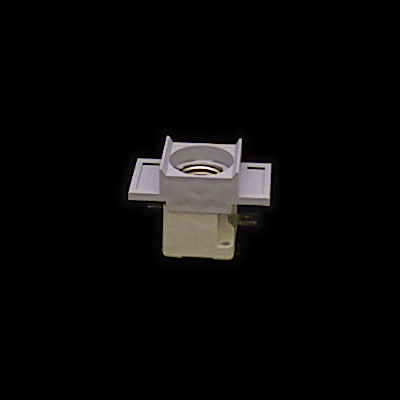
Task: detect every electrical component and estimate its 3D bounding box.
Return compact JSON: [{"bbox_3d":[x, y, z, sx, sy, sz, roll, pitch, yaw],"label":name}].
[{"bbox_3d":[0.000,0.000,0.633,0.081,0.064,0.041,3,30,4],"label":"electrical component"}]
